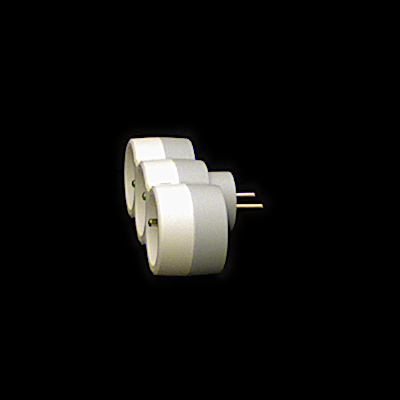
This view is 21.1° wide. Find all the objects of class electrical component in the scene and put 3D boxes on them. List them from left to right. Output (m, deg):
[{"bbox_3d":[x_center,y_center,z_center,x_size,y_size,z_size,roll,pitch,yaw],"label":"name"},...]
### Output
[{"bbox_3d":[0.000,0.000,0.647,0.074,0.053,0.136,-2,22,-12],"label":"electrical component"}]
